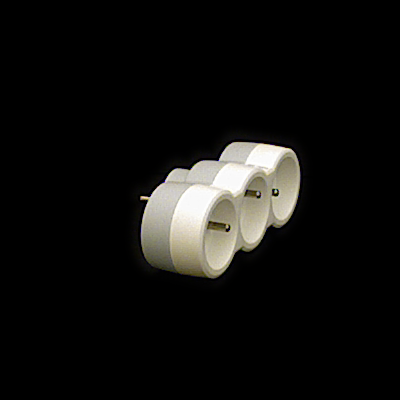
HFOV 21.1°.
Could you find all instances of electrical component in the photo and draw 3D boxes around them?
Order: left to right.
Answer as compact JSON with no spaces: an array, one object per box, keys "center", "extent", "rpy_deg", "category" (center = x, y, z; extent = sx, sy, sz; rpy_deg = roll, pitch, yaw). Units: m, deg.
[{"center":[0.000,0.000,0.650],"extent":[0.073,0.053,0.138],"rpy_deg":[11,23,26],"category":"electrical component"}]
